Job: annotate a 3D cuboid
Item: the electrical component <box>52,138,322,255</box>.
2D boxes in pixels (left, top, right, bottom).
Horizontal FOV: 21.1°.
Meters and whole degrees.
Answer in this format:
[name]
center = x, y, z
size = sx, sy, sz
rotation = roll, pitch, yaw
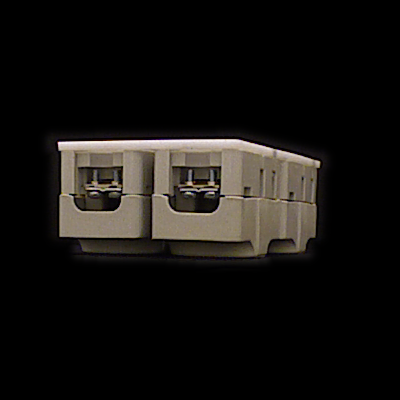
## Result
[electrical component]
center = 0.000, 0.000, 0.650
size = 0.105, 0.060, 0.186
rotation = 1, -1, 20
